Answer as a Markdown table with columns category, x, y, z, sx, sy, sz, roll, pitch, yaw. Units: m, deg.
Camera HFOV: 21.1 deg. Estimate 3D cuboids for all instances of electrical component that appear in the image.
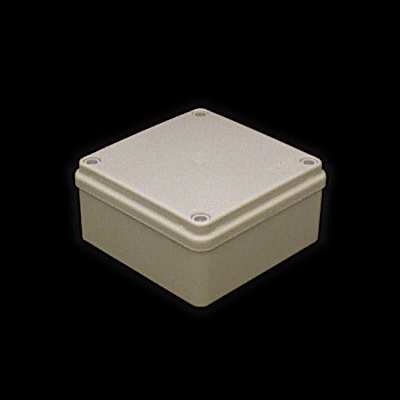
| category | x | y | z | sx | sy | sz | roll | pitch | yaw |
| --- | --- | --- | --- | --- | --- | --- | --- | --- | --- |
| electrical component | 0.000 | 0.000 | 0.635 | 0.107 | 0.057 | 0.108 | 27 | 40 | 37 |
